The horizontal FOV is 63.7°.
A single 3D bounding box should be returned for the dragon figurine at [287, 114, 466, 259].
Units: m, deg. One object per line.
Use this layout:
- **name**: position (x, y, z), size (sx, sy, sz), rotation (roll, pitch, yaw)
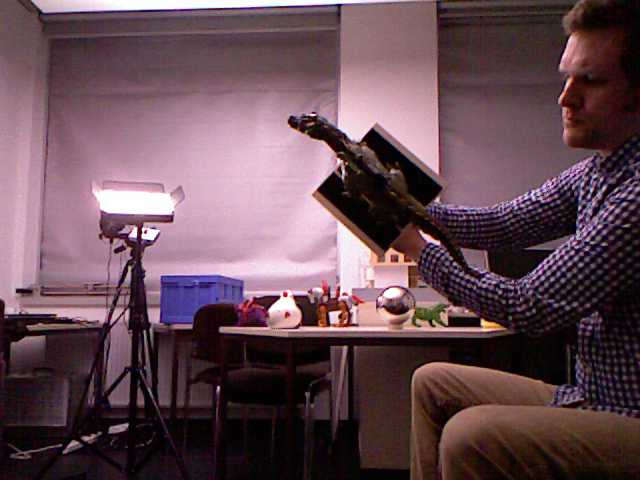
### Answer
- **dragon figurine**: position (0.116, -0.102, 0.945), size (0.414, 0.123, 0.243), rotation (37, 3, 10)
